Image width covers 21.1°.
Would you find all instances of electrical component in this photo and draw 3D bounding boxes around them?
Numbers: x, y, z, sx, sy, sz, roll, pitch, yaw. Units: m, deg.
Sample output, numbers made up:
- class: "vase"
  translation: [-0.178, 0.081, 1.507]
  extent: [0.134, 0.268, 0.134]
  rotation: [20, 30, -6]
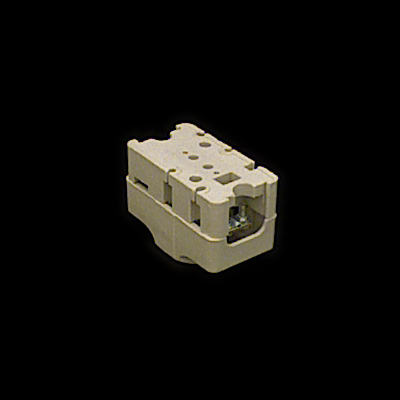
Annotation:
- class: "electrical component"
  translation: [0.000, 0.000, 0.643]
  extent: [0.050, 0.056, 0.088]
  rotation: [-21, 39, -32]
